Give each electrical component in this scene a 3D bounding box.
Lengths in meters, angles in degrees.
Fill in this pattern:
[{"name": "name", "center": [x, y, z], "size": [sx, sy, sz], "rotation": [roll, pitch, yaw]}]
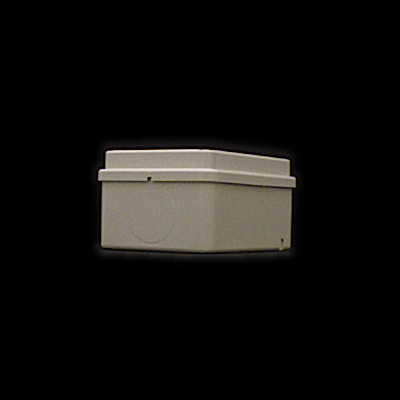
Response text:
[{"name": "electrical component", "center": [0.000, 0.000, 0.648], "size": [0.078, 0.057, 0.113], "rotation": [1, 0, 30]}]
